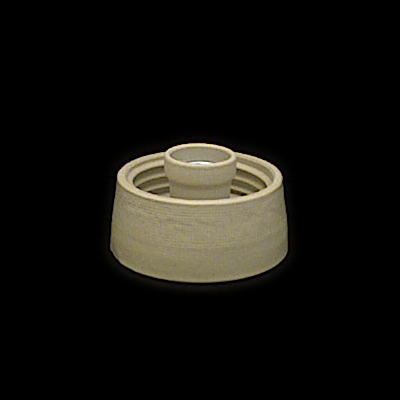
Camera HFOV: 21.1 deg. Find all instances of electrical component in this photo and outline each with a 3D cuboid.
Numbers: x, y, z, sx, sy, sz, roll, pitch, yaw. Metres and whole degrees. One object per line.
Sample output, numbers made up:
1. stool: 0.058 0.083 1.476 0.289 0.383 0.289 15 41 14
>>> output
1. electrical component: 0.000 0.000 0.644 0.108 0.061 0.106 1 22 0
